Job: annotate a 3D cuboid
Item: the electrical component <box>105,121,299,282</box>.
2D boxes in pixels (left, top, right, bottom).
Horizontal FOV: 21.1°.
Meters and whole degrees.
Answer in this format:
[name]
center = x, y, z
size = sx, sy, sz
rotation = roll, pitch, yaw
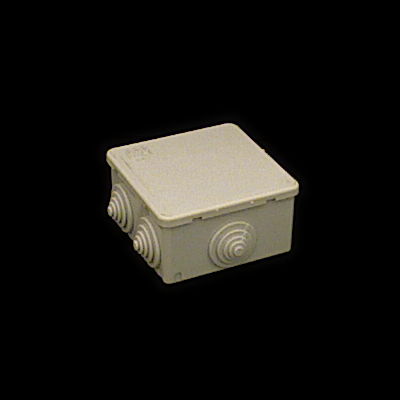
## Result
[electrical component]
center = 0.000, 0.000, 0.644
size = 0.100, 0.049, 0.098
rotation = -14, 35, -22
